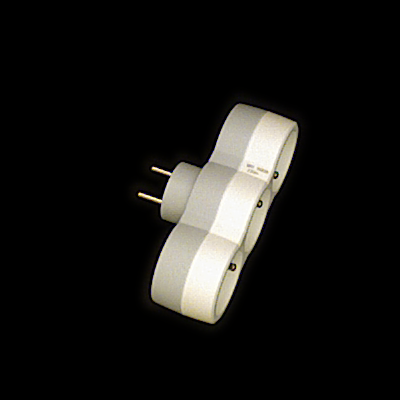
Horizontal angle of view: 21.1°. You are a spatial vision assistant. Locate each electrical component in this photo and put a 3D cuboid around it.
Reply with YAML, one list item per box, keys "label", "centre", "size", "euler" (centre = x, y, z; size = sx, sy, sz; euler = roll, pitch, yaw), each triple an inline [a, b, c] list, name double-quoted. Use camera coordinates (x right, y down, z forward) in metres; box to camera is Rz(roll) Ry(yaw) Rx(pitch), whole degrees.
- label: "electrical component"
  centre: [0.000, 0.000, 0.639]
  size: [0.073, 0.139, 0.052]
  euler: [20, -25, 11]
